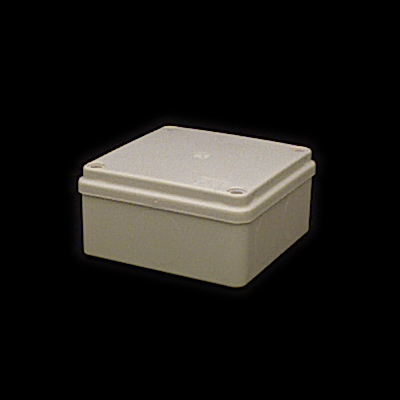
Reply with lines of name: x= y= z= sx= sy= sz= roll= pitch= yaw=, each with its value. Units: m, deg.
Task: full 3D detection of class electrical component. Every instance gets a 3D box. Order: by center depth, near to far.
electrical component: x=0.000 y=0.000 z=0.641 sx=0.108 sy=0.057 sz=0.108 roll=11 pitch=22 yaw=24
